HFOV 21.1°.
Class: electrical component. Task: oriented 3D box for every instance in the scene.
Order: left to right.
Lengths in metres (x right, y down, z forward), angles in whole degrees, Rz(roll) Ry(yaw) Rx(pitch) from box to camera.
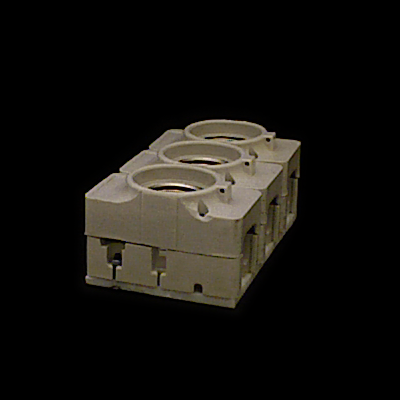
[{"bbox_3d":[0.000,0.000,0.645,0.089,0.063,0.147,8,22,15],"label":"electrical component"}]
